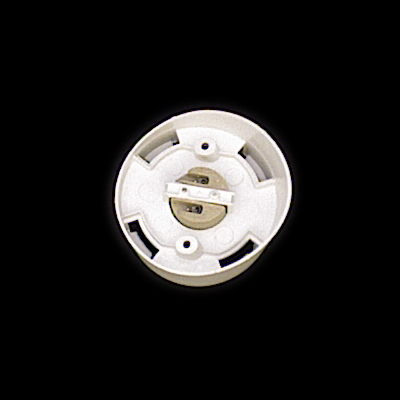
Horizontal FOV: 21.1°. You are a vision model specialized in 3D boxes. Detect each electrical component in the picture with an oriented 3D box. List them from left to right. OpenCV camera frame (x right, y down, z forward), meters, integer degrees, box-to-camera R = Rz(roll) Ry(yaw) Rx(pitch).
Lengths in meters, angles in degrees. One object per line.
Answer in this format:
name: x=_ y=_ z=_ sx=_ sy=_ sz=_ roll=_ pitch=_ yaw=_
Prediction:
electrical component: x=0.000 y=0.000 z=0.624 sx=0.099 sy=0.099 sz=0.064 roll=0 pitch=-17 yaw=-1
